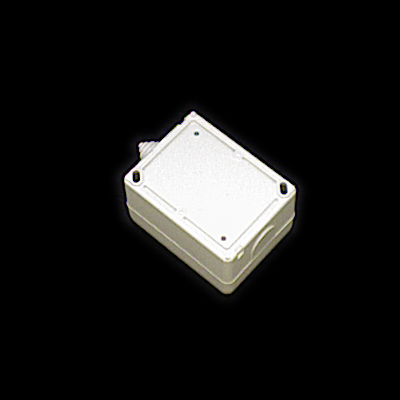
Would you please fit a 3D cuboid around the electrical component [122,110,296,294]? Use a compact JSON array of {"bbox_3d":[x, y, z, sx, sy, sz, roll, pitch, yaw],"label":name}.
[{"bbox_3d":[0.000,0.000,0.628,0.096,0.062,0.061,38,-21,18],"label":"electrical component"}]
